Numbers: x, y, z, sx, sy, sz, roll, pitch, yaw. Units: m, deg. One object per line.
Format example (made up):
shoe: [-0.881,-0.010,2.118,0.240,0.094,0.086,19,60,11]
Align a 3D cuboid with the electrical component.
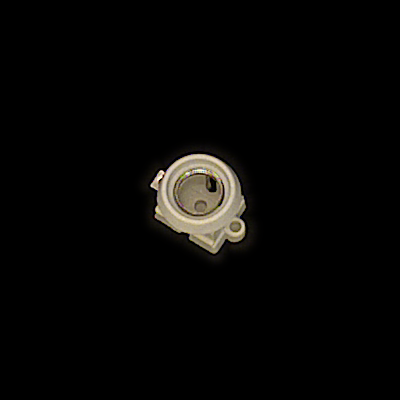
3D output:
electrical component: [0.000,0.000,0.637,0.066,0.049,0.055,30,-16,8]
